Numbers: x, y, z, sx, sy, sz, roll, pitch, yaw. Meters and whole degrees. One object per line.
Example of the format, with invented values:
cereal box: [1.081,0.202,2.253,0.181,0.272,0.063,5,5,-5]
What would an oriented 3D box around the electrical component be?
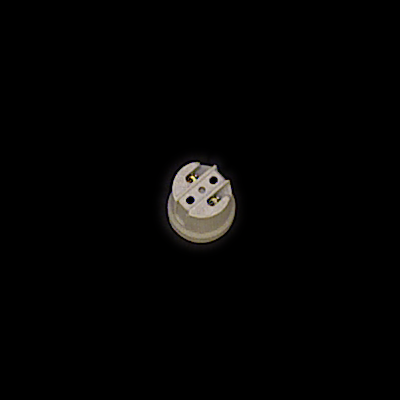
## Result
electrical component: [0.000,0.000,0.633,0.040,0.040,0.046,0,-16,0]
